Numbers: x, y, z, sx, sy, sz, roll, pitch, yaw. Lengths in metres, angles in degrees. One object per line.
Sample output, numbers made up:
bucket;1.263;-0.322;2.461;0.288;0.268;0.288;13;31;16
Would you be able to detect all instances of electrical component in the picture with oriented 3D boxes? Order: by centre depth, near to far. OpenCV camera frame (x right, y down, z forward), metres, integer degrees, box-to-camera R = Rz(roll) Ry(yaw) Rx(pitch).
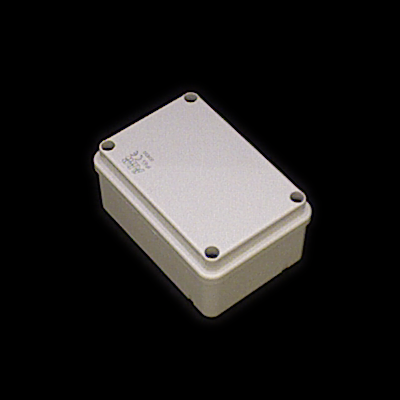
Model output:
electrical component;0.000;0.000;0.627;0.078;0.112;0.057;-32;-30;-23
